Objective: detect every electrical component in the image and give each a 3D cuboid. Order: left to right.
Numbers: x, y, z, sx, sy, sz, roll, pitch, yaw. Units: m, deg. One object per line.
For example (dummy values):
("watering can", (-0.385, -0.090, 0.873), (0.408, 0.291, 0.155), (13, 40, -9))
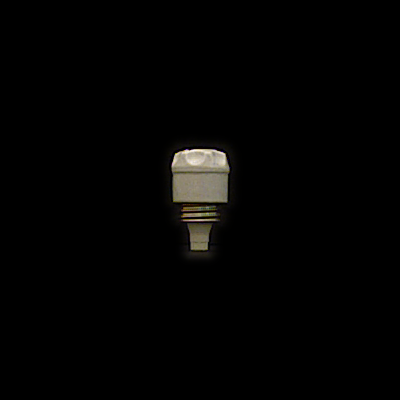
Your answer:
("electrical component", (0.000, 0.000, 0.656), (0.035, 0.061, 0.035), (1, 2, 1))
